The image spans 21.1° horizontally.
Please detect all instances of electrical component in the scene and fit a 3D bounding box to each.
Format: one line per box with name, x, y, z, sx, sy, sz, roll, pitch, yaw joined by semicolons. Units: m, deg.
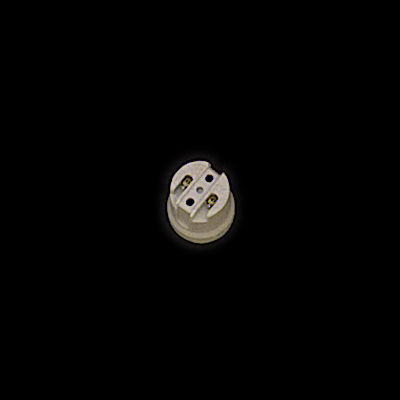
electrical component;0.000;0.000;0.633;0.040;0.040;0.046;0;-17;0
